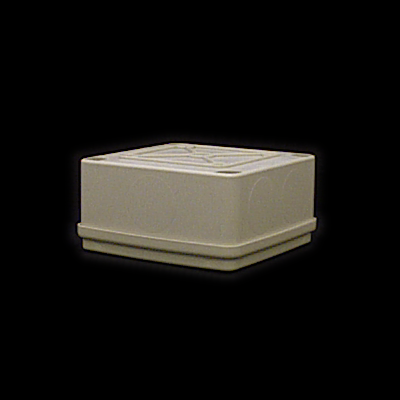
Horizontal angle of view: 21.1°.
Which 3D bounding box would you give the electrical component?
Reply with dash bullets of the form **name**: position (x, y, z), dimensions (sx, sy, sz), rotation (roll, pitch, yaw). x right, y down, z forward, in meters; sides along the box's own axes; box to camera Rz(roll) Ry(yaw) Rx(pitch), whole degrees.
- **electrical component**: position (0.000, 0.000, 0.642), dimensions (0.108, 0.056, 0.108), rotation (7, 12, 30)
